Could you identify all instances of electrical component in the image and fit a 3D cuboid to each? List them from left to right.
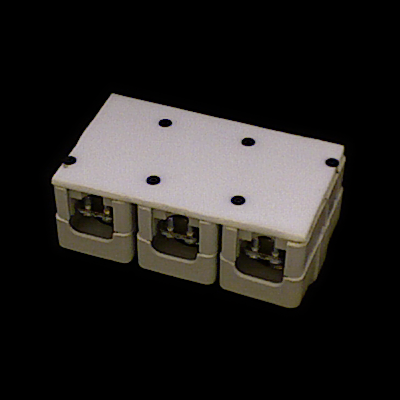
[{"bbox_3d":[0.000,0.000,0.638,0.150,0.063,0.088,14,44,14],"label":"electrical component"}]
